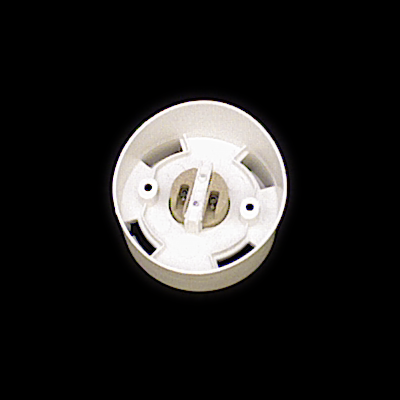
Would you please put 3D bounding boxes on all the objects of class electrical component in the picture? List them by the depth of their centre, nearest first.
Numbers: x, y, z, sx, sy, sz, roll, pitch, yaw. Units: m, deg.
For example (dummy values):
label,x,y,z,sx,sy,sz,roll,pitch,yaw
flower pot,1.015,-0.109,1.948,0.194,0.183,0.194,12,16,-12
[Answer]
label,x,y,z,sx,sy,sz,roll,pitch,yaw
electrical component,0.000,0.000,0.625,0.099,0.099,0.064,0,-28,0
